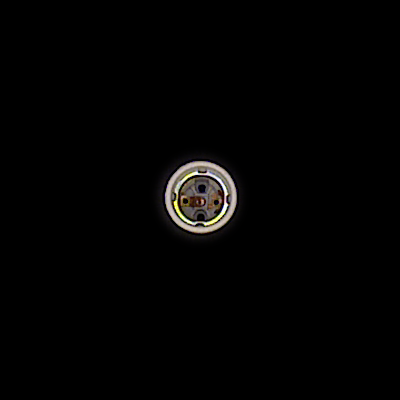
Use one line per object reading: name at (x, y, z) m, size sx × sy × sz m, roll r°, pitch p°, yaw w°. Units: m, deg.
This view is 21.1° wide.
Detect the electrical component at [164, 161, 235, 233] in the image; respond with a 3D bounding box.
electrical component at (0.000, 0.000, 0.627) m, size 0.040 × 0.040 × 0.046 m, roll 0°, pitch -6°, yaw 0°
